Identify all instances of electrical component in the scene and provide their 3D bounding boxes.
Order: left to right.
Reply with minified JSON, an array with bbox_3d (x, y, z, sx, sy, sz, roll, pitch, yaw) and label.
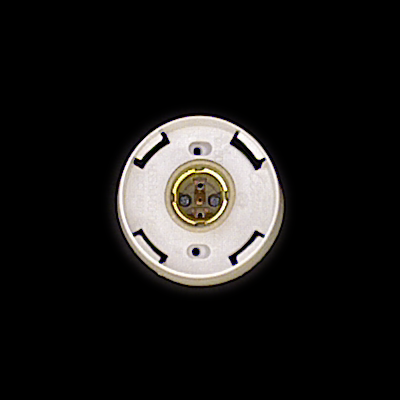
[{"bbox_3d":[0.000,0.000,0.625,0.099,0.099,0.064,0,-7,0],"label":"electrical component"}]
